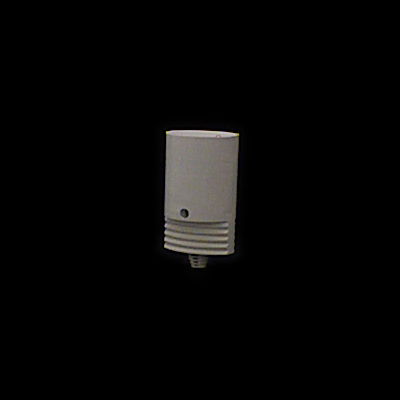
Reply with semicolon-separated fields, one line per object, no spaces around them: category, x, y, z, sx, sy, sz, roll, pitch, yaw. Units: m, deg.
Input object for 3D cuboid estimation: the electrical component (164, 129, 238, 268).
electrical component;0.000;0.000;0.643;0.043;0.082;0.042;1;12;0
